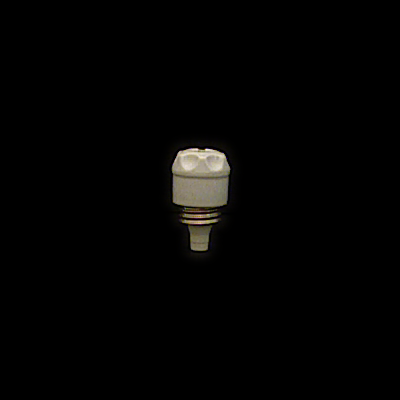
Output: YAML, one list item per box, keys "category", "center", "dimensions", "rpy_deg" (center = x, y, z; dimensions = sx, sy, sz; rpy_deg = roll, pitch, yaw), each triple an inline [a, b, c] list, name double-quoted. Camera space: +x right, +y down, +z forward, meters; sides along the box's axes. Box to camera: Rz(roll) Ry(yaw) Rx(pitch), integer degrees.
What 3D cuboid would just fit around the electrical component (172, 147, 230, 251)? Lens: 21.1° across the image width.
- category: "electrical component"
  center: [0.000, 0.000, 0.653]
  dimensions: [0.035, 0.062, 0.035]
  rpy_deg: [1, 12, 0]
